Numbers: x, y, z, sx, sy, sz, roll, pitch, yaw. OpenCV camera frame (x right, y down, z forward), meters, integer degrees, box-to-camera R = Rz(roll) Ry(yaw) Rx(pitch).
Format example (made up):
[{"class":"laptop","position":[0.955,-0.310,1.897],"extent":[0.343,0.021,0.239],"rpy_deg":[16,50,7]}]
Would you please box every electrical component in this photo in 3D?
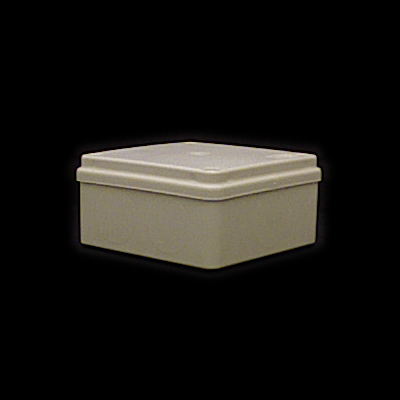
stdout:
[{"class":"electrical component","position":[0.000,0.000,0.645],"extent":[0.108,0.056,0.109],"rpy_deg":[9,13,38]}]
